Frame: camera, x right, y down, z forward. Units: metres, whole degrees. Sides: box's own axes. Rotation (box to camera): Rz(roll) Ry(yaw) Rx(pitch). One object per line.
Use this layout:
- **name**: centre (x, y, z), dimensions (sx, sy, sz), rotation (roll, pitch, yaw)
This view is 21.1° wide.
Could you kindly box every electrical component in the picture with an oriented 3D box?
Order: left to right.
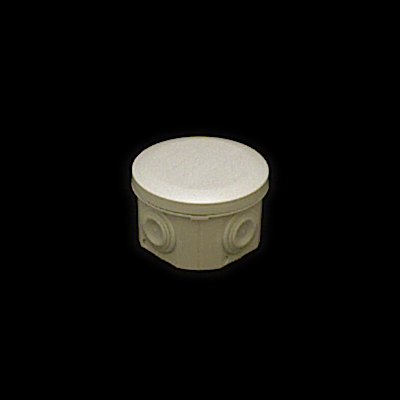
- **electrical component**: centre (0.000, 0.000, 0.634), dimensions (0.080, 0.051, 0.079), rotation (1, 31, 0)
